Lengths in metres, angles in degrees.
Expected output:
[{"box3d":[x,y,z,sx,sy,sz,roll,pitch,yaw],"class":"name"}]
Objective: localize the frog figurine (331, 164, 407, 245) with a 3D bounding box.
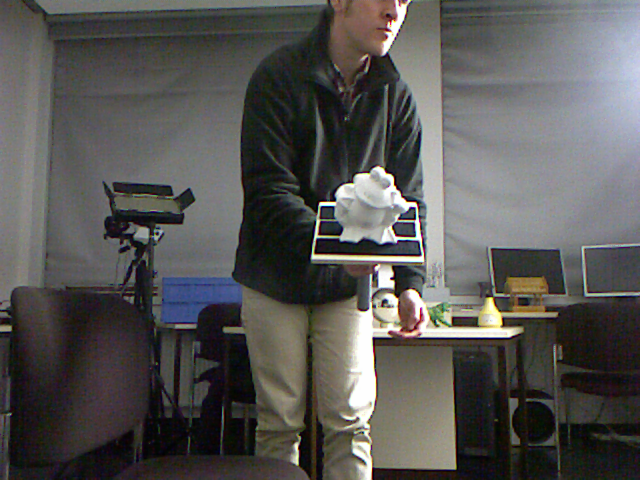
[{"box3d":[0.089,-0.077,0.944,0.138,0.156,0.125,12,37,17],"class":"frog figurine"}]
